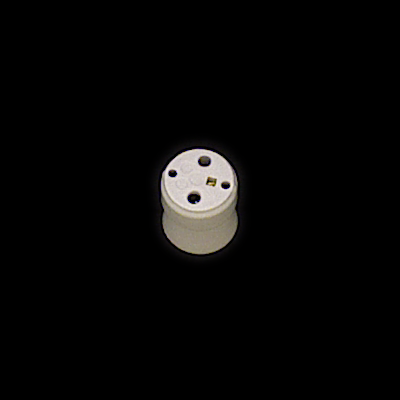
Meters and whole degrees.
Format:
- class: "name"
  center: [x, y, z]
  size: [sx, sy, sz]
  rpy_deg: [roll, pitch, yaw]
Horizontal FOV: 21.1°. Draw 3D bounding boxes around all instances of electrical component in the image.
- class: "electrical component"
  center: [0.000, 0.000, 0.628]
  size: [0.045, 0.045, 0.055]
  rpy_deg: [0, -27, 0]
